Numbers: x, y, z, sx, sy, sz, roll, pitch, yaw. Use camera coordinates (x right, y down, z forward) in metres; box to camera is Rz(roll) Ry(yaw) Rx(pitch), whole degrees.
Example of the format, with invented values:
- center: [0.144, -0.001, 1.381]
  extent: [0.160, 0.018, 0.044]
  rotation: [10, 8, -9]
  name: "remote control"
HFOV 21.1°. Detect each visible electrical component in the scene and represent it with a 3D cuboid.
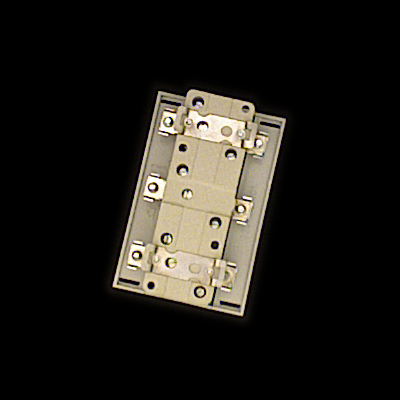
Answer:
- center: [0.000, 0.000, 0.634]
  extent: [0.079, 0.122, 0.063]
  rotation: [12, -6, 1]
  name: "electrical component"
